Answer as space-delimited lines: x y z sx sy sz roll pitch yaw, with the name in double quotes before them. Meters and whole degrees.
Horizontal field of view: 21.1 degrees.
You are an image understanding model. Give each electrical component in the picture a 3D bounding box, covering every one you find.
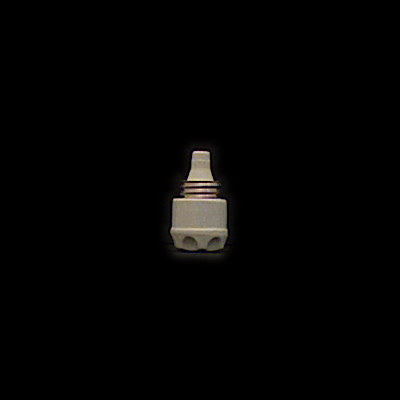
"electrical component" 0.000 0.000 0.661 0.035 0.061 0.035 2 0 0
